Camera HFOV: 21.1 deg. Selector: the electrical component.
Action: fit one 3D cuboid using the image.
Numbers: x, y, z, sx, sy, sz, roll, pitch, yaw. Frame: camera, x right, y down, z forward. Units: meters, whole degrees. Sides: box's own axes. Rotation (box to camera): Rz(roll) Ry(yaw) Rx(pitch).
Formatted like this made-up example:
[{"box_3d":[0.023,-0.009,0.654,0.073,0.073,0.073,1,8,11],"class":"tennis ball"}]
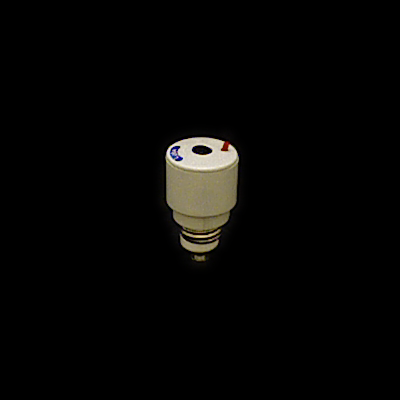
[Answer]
[{"box_3d":[0.000,0.000,0.629,0.040,0.079,0.039,1,31,-1],"class":"electrical component"}]
